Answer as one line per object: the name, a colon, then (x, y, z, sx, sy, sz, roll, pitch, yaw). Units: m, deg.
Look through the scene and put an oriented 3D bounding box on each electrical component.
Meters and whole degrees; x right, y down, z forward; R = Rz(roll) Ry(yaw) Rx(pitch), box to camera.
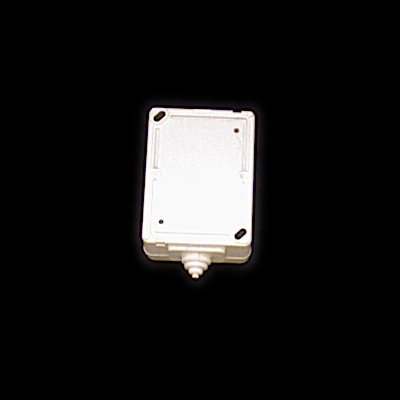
electrical component: (0.000, 0.000, 0.627, 0.062, 0.097, 0.060, 2, -16, 1)
